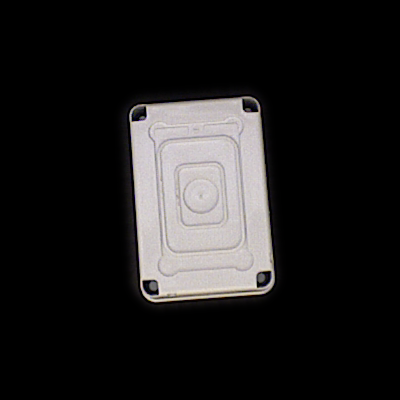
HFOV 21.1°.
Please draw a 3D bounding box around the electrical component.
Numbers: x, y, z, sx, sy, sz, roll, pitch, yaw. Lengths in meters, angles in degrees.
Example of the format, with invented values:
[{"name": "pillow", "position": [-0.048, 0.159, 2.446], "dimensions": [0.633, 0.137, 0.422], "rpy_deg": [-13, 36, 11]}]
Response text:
[{"name": "electrical component", "position": [0.000, 0.000, 0.629], "dimensions": [0.078, 0.113, 0.057], "rpy_deg": [-4, -7, 0]}]
